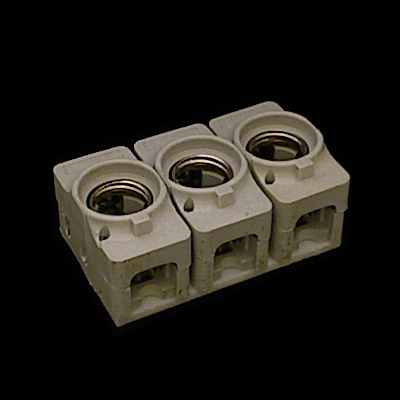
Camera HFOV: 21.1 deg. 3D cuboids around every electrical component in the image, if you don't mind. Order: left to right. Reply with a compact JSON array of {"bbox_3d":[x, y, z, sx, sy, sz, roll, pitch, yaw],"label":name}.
[{"bbox_3d":[0.000,0.000,0.636,0.150,0.063,0.088,-19,46,-20],"label":"electrical component"}]
